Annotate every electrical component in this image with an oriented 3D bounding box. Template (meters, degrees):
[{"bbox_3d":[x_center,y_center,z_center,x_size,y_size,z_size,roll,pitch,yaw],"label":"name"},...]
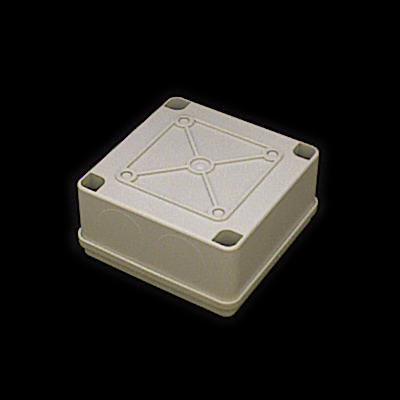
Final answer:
[{"bbox_3d":[0.000,0.000,0.633,0.108,0.057,0.108,22,45,23],"label":"electrical component"}]
